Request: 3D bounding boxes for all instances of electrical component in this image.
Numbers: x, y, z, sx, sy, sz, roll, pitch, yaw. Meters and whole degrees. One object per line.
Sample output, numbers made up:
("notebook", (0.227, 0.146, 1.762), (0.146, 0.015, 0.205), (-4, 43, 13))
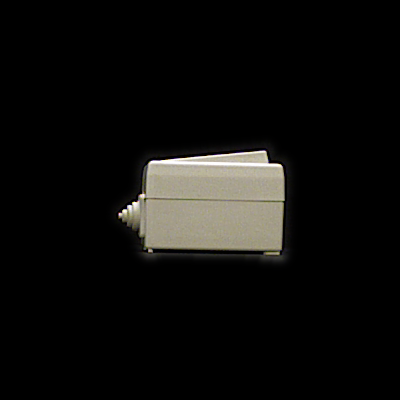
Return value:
("electrical component", (0.000, 0.000, 0.649), (0.096, 0.061, 0.061), (1, 0, -6))
